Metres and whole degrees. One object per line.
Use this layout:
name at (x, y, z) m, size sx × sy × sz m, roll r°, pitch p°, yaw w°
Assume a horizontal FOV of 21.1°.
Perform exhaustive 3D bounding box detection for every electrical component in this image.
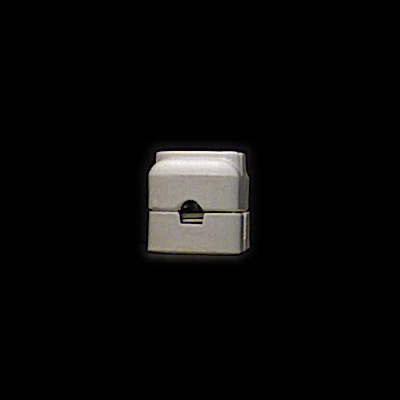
electrical component at (0.000, 0.000, 0.656) m, size 0.053 × 0.059 × 0.095 m, roll 1°, pitch 1°, yaw 6°
